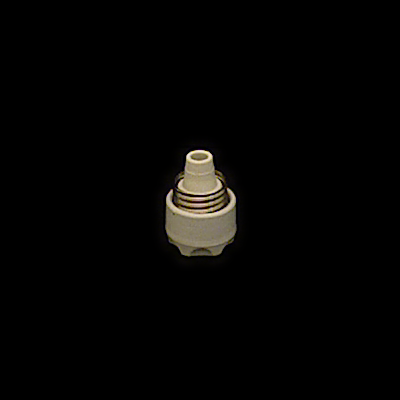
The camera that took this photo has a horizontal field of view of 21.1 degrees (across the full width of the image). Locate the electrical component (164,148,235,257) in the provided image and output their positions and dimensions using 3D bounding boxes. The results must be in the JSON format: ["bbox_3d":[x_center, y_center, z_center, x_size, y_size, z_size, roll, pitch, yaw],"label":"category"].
[{"bbox_3d":[0.000,0.000,0.641,0.043,0.063,0.043,0,32,1],"label":"electrical component"}]
